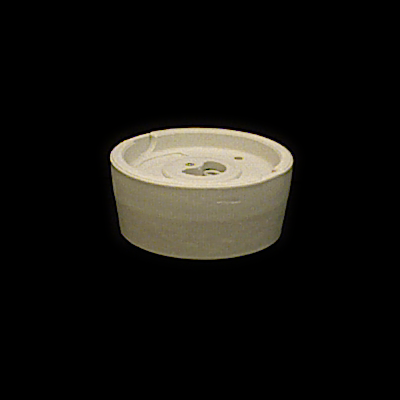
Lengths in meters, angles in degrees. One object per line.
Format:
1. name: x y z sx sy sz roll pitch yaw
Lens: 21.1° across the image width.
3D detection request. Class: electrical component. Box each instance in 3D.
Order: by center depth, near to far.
1. electrical component: 0.000 0.000 0.646 0.108 0.061 0.106 2 22 0
